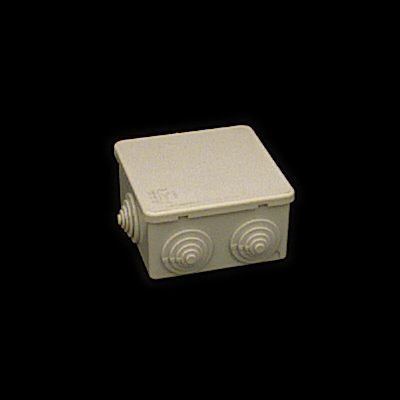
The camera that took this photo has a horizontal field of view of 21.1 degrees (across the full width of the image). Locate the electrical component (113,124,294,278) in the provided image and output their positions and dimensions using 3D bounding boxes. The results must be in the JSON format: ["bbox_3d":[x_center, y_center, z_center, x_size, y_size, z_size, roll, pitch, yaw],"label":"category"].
[{"bbox_3d":[0.000,0.000,0.643,0.100,0.049,0.098,-8,33,-14],"label":"electrical component"}]
